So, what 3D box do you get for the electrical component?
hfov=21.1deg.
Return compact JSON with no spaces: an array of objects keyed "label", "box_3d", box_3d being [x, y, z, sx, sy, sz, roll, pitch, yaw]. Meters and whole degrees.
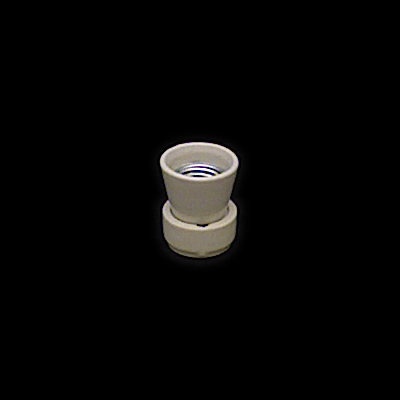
[{"label":"electrical component","box_3d":[0.000,0.000,0.634,0.045,0.056,0.044,0,31,0]}]
